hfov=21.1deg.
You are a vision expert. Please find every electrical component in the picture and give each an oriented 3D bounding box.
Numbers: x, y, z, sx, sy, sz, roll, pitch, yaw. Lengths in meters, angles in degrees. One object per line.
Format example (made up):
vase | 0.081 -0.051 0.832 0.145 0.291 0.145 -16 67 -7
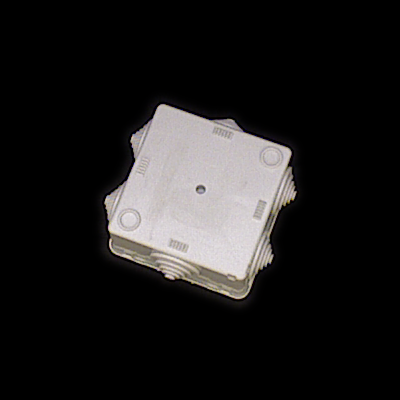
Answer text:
electrical component | 0.000 0.000 0.631 0.100 0.100 0.048 20 -15 6
